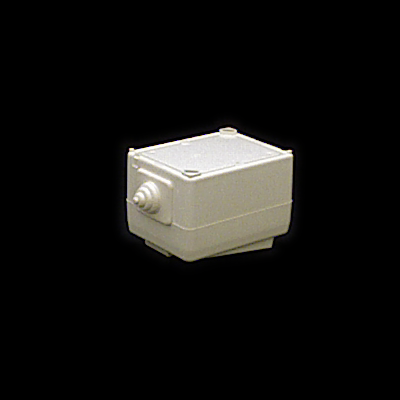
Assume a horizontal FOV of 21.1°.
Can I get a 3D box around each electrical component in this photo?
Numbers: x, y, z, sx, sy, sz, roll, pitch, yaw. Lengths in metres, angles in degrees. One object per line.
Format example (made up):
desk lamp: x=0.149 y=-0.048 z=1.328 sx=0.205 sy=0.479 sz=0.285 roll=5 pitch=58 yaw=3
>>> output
electrical component: x=0.000 y=0.000 z=0.633 sx=0.096 sy=0.061 sz=0.061 roll=-15 pitch=27 yaw=-37
